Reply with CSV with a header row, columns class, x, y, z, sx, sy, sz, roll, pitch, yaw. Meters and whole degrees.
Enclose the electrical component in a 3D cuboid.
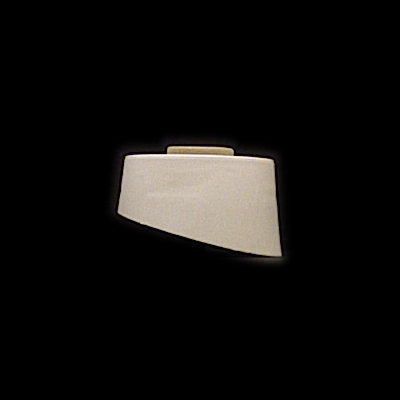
class,x,y,z,sx,sy,sz,roll,pitch,yaw
electrical component,0.000,0.000,0.649,0.099,0.064,0.099,2,0,0
